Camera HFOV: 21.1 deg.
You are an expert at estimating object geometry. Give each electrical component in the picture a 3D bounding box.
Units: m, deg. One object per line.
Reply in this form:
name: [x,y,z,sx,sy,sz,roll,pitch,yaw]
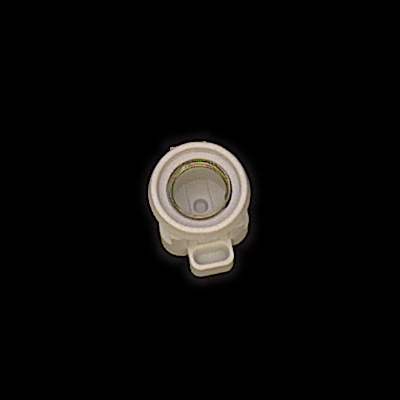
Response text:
electrical component: [0.000,0.000,0.629,0.058,0.078,0.056,-12,-16,-3]
